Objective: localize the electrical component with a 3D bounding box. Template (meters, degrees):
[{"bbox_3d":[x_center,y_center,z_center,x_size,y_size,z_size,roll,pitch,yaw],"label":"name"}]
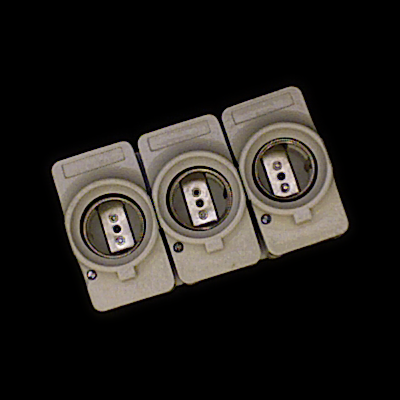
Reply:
[{"bbox_3d":[0.000,0.000,0.632,0.150,0.089,0.061,-18,-5,-1],"label":"electrical component"}]
